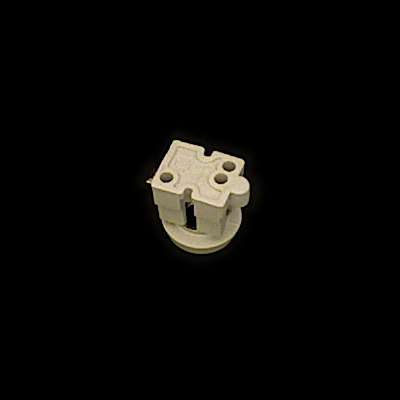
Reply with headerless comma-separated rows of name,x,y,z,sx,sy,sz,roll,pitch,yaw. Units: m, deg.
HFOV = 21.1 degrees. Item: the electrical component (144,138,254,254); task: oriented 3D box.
electrical component,0.000,0.000,0.639,0.066,0.048,0.056,17,-34,13
